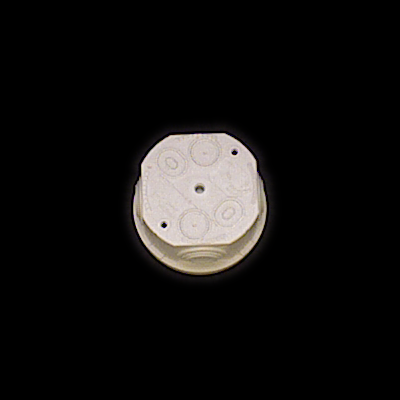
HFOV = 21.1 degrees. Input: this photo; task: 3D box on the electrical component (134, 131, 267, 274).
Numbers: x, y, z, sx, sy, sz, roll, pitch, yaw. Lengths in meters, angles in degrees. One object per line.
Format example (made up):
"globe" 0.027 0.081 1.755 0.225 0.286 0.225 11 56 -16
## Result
"electrical component" 0.000 0.000 0.632 0.080 0.080 0.050 0 -17 -1
